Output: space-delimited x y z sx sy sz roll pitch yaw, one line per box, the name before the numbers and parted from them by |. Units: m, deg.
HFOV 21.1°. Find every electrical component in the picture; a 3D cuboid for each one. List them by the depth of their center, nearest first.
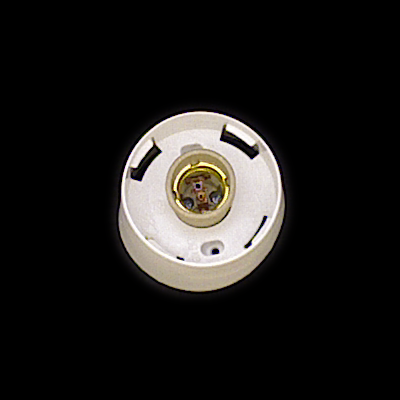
electrical component | 0.000 0.000 0.625 0.099 0.099 0.064 0 -17 0
